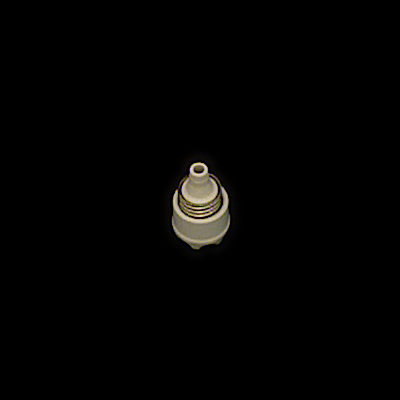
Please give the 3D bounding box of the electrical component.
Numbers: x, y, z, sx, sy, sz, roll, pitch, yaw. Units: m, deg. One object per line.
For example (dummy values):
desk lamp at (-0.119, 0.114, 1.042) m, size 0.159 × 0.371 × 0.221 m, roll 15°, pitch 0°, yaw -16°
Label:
electrical component at (0.000, 0.000, 0.639) m, size 0.035 × 0.035 × 0.062 m, roll 0°, pitch -38°, yaw 2°
